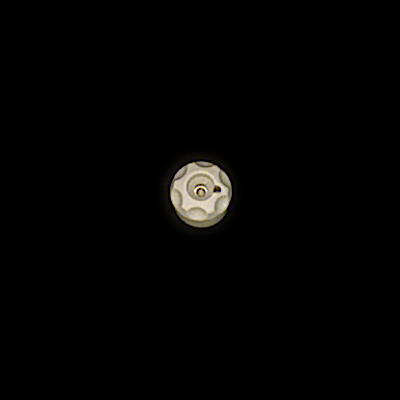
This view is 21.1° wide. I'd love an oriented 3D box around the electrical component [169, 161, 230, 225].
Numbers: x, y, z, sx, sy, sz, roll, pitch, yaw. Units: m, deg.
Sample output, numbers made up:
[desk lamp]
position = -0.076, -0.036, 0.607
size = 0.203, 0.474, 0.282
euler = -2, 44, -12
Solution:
[electrical component]
position = 0.000, 0.000, 0.633
size = 0.035, 0.035, 0.061
euler = 0, -15, 1
